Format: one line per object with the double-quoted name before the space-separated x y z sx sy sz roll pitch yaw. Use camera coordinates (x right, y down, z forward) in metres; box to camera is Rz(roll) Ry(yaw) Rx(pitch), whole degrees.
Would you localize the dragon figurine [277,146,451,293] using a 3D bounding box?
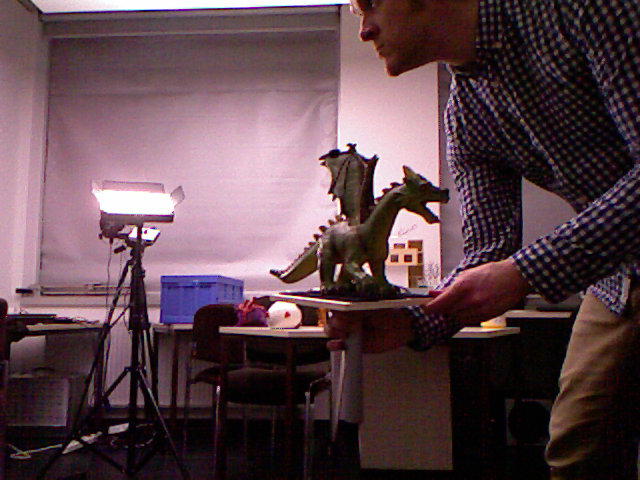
"dragon figurine" 0.038 -0.032 0.859 0.122 0.243 0.409 2 -2 -40
